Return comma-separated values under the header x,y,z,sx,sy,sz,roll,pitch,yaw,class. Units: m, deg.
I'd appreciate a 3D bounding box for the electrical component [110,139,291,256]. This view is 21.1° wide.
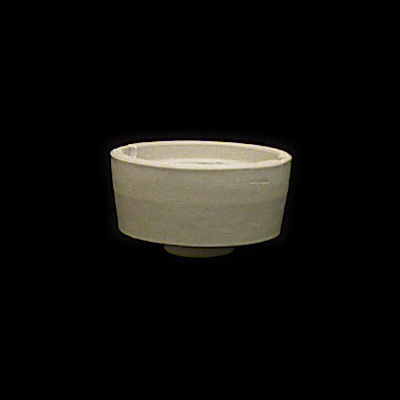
x,y,z,sx,sy,sz,roll,pitch,yaw,class
0.000,0.000,0.649,0.108,0.061,0.107,2,11,0,electrical component
